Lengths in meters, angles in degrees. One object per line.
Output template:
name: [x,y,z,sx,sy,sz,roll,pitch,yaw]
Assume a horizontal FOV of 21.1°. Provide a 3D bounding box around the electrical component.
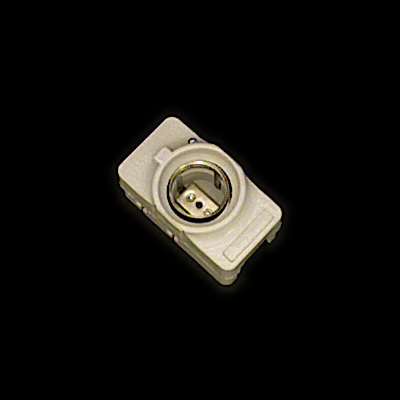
electrical component: [0.000,0.000,0.636,0.089,0.050,0.055,41,-12,11]
